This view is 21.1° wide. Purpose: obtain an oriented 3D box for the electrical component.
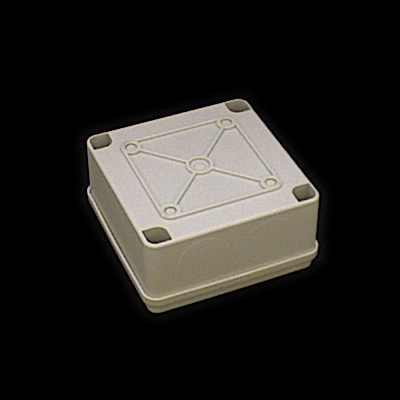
[{"bbox_3d":[0.000,0.000,0.631,0.109,0.057,0.107,-16,44,-18],"label":"electrical component"}]
